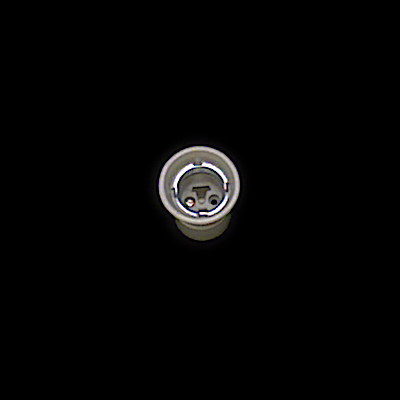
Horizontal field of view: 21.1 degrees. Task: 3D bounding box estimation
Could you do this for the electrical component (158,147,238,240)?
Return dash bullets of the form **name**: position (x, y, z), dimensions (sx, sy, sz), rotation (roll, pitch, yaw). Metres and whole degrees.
- **electrical component**: position (0.000, 0.000, 0.624), dimensions (0.044, 0.044, 0.065), rotation (0, -16, 2)
